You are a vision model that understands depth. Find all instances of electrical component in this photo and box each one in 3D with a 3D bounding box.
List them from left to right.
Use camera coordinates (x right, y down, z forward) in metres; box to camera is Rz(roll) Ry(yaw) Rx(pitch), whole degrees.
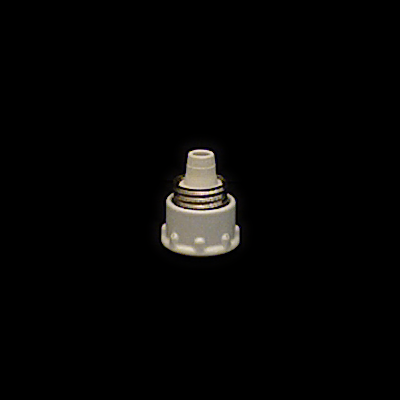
[{"bbox_3d":[0.000,0.000,0.647,0.048,0.063,0.047,1,21,0],"label":"electrical component"}]
